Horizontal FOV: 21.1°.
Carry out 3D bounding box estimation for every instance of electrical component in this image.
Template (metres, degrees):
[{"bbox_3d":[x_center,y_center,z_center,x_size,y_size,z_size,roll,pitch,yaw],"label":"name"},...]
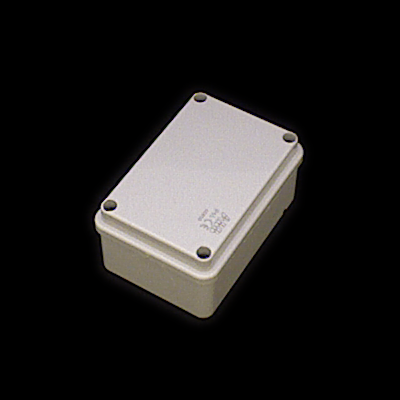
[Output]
[{"bbox_3d":[0.000,0.000,0.628,0.078,0.113,0.057,26,-34,18],"label":"electrical component"}]
